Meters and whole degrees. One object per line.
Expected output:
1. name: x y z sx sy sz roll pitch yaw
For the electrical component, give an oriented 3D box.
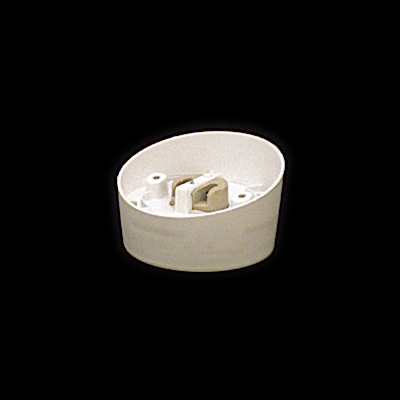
1. electrical component: 0.000 0.000 0.639 0.099 0.065 0.097 1 20 0
